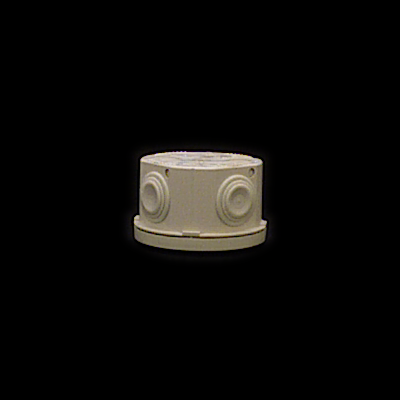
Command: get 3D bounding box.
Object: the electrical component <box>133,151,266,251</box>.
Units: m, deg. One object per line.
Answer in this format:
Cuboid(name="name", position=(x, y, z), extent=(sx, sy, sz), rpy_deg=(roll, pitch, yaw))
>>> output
Cuboid(name="electrical component", position=(0.000, 0.000, 0.647), extent=(0.080, 0.051, 0.079), rpy_deg=(1, 10, 0))
